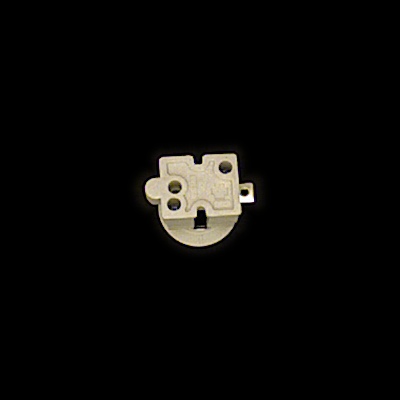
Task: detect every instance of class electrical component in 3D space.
[{"bbox_3d":[0.000,0.000,0.637,0.066,0.048,0.055,-3,-17,-2],"label":"electrical component"}]
